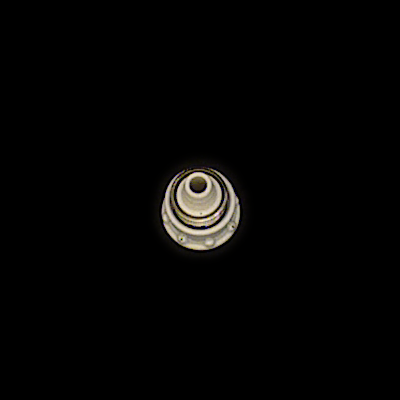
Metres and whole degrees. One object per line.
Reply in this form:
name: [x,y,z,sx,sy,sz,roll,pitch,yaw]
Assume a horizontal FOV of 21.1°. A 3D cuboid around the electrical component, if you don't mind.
electrical component: [0.000,0.000,0.634,0.048,0.048,0.061,0,-17,1]
